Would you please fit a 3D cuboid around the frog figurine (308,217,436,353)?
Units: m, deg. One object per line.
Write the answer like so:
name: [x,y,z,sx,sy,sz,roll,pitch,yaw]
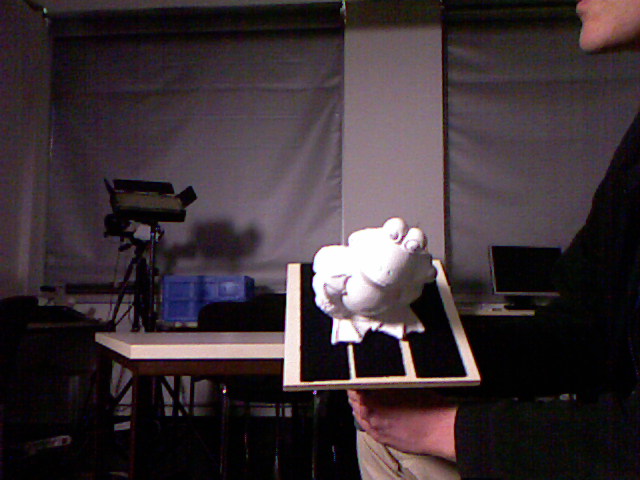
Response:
frog figurine: [0.057,0.031,0.555,0.138,0.156,0.126,5,37,5]
